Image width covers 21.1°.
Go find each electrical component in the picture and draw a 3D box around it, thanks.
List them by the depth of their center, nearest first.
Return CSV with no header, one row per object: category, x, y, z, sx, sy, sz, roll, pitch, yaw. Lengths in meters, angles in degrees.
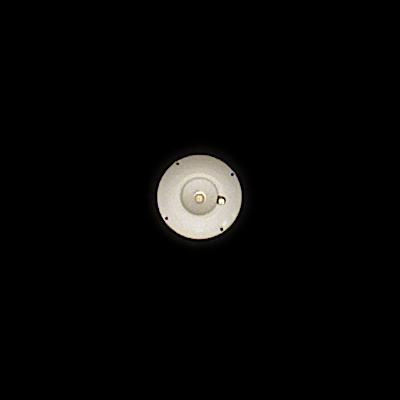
electrical component,0.000,0.000,0.635,0.048,0.048,0.062,0,-6,1
